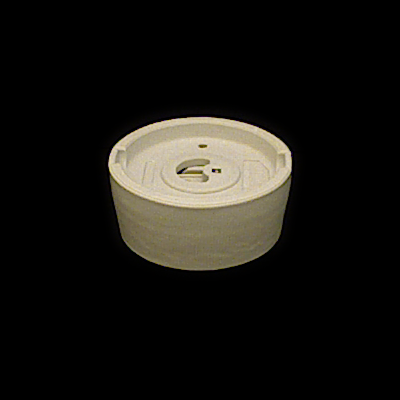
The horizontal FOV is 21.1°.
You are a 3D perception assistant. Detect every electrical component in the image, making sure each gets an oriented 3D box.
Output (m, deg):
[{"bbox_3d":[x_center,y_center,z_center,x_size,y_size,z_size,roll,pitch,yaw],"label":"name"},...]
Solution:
[{"bbox_3d":[0.000,0.000,0.643,0.108,0.061,0.106,1,32,0],"label":"electrical component"}]
